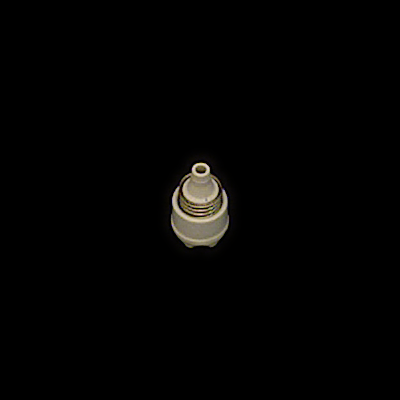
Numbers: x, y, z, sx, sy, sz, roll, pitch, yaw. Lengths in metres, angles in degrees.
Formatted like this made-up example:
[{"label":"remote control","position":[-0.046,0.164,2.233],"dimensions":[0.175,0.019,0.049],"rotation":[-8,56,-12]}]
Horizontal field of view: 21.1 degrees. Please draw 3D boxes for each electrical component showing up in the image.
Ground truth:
[{"label":"electrical component","position":[0.000,0.000,0.640],"dimensions":[0.035,0.035,0.062],"rotation":[0,-36,-2]}]
